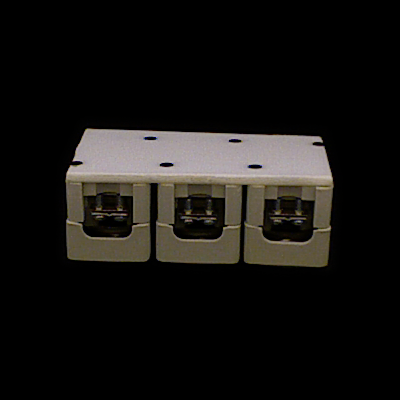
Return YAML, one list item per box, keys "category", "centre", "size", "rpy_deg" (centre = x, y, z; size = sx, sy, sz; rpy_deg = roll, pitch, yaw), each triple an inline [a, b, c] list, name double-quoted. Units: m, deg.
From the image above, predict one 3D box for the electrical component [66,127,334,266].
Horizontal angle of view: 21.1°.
- category: "electrical component"
  centre: [0.000, 0.000, 0.647]
  size: [0.150, 0.063, 0.087]
  rpy_deg: [2, 21, 1]
